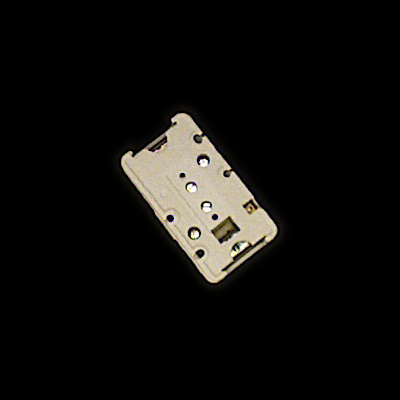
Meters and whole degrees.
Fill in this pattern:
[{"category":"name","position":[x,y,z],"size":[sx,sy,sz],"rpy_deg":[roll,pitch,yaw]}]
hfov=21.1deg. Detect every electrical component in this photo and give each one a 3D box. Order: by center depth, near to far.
[{"category":"electrical component","position":[0.000,0.000,0.637],"size":[0.050,0.089,0.055],"rpy_deg":[-38,-4,-4]}]
